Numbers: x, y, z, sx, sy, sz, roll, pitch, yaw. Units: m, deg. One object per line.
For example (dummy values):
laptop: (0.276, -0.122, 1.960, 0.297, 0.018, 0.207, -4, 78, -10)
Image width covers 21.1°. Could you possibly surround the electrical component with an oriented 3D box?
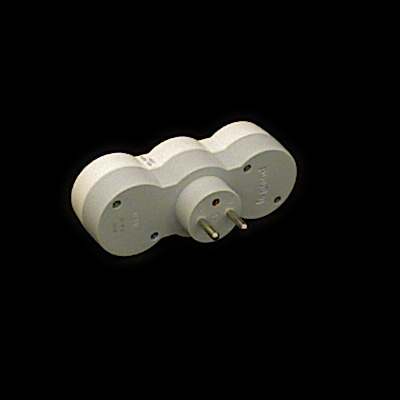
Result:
electrical component: (0.000, 0.000, 0.641, 0.139, 0.053, 0.072, -16, 37, -25)
